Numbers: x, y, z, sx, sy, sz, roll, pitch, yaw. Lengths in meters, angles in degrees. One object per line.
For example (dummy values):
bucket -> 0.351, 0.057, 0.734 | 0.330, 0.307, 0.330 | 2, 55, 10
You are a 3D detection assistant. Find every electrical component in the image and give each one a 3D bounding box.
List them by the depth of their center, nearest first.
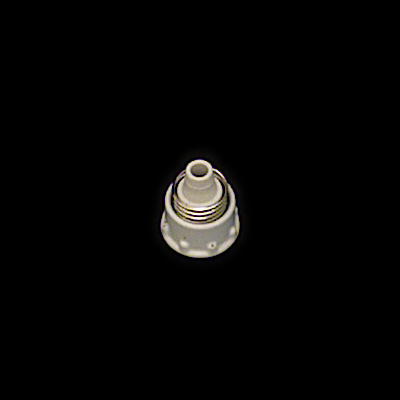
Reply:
electrical component -> 0.000, 0.000, 0.634 | 0.048, 0.048, 0.062 | 0, -36, 0
